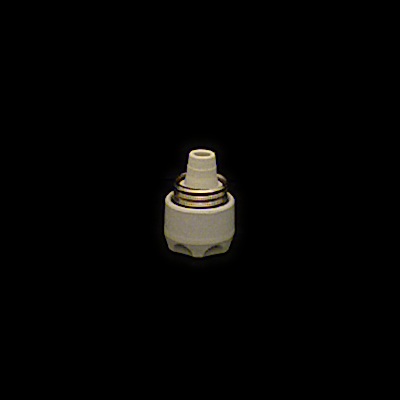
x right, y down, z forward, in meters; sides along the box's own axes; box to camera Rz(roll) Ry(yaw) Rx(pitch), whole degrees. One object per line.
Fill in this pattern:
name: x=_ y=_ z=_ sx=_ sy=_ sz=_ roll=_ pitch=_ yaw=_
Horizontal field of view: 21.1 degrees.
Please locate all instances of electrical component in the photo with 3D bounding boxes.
electrical component: x=0.000 y=0.000 z=0.645 sx=0.043 sy=0.063 sz=0.043 roll=2 pitch=23 yaw=0
